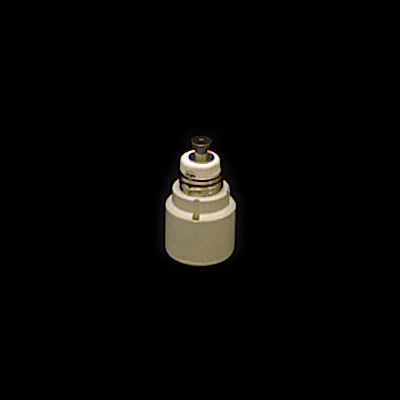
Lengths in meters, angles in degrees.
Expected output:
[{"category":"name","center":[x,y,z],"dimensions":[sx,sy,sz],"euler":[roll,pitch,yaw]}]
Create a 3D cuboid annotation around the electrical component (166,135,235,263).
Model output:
[{"category":"electrical component","center":[0.000,0.000,0.628],"dimensions":[0.040,0.079,0.039],"euler":[0,30,0]}]
